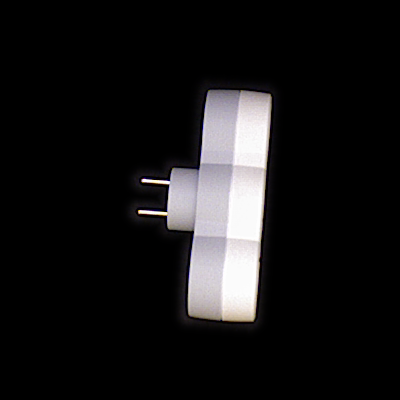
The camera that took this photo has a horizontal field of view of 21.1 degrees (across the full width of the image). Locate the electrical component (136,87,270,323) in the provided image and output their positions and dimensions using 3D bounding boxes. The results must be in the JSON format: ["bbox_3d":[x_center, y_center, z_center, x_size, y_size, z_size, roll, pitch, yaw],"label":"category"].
[{"bbox_3d":[0.000,0.000,0.629,0.074,0.139,0.052,4,-16,4],"label":"electrical component"}]
